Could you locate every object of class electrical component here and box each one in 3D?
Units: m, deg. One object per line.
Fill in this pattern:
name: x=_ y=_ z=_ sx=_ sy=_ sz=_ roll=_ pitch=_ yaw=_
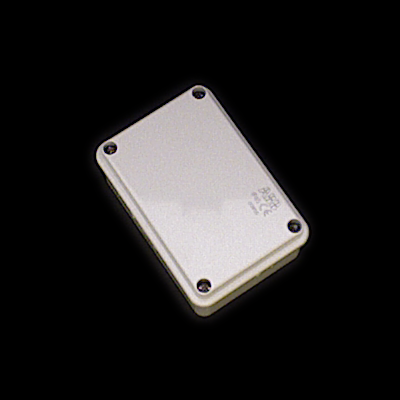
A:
electrical component: x=0.000 y=0.000 z=0.627 sx=0.078 sy=0.113 sz=0.057 roll=-33 pitch=-14 yaw=-9
